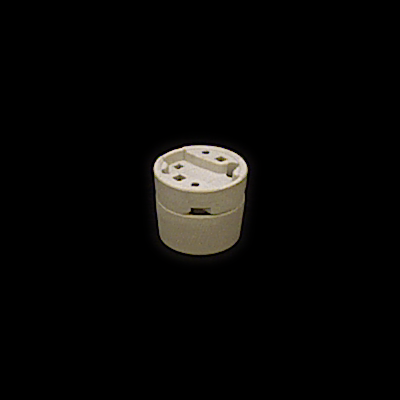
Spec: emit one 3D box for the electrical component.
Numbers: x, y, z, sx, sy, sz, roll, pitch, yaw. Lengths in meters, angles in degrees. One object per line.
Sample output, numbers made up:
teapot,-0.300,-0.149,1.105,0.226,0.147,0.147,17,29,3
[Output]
electrical component,0.000,0.000,0.639,0.055,0.047,0.055,1,31,0
